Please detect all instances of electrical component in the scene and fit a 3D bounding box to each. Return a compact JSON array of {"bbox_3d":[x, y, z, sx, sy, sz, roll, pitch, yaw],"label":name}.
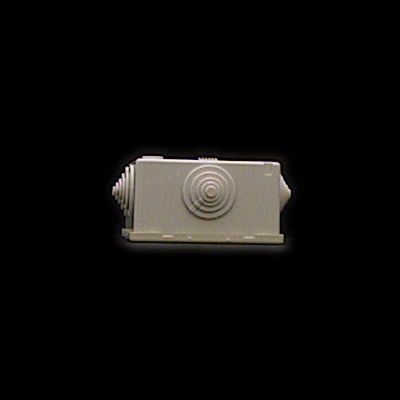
[{"bbox_3d":[0.000,0.000,0.648,0.100,0.048,0.099,1,0,-8],"label":"electrical component"}]
